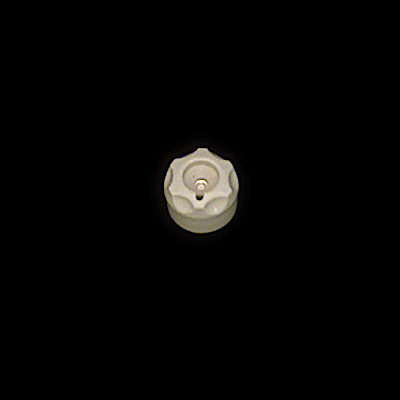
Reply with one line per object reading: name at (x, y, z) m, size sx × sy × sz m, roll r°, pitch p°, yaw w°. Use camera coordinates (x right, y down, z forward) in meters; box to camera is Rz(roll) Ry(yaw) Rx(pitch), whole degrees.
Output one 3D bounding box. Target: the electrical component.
electrical component at (0.000, 0.000, 0.634) m, size 0.043 × 0.043 × 0.062 m, roll 0°, pitch -27°, yaw 1°
